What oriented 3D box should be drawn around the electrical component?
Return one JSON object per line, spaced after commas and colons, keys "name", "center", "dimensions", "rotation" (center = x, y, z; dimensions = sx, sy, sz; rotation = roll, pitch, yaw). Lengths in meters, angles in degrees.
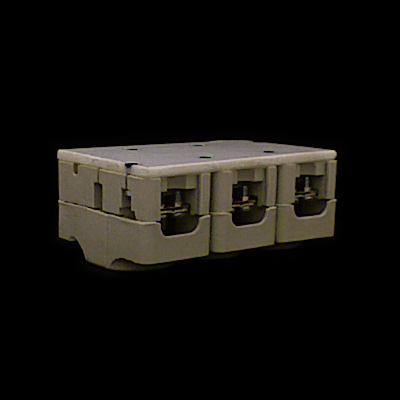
{"name": "electrical component", "center": [0.000, 0.000, 0.654], "dimensions": [0.150, 0.062, 0.089], "rotation": [-6, 13, -39]}
